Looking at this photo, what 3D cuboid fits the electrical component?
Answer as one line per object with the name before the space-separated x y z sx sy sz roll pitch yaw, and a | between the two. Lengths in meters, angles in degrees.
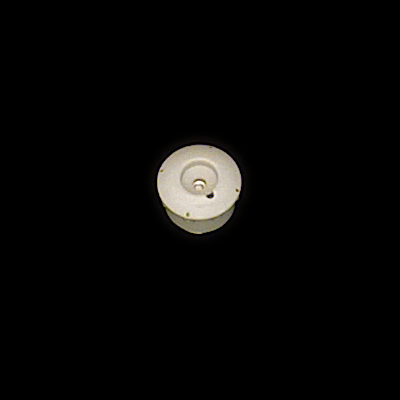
electrical component | 0.000 0.000 0.634 0.048 0.048 0.062 0 -27 0
